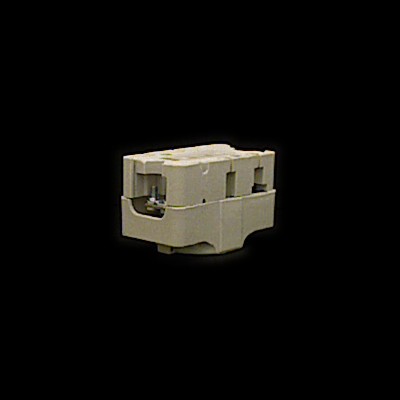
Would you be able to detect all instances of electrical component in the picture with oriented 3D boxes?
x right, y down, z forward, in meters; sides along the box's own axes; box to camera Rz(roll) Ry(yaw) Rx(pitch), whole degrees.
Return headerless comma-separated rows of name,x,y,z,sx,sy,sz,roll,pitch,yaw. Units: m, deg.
electrical component,0.000,0.000,0.651,0.049,0.056,0.090,12,16,40
